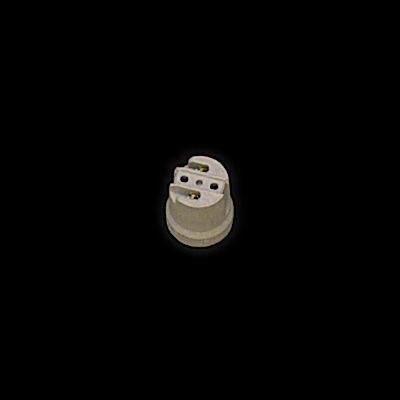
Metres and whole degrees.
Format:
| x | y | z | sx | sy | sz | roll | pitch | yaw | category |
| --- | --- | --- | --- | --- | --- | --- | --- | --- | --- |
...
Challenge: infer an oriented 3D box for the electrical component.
| x | y | z | sx | sy | sz | roll | pitch | yaw | category |
| --- | --- | --- | --- | --- | --- | --- | --- | --- | --- |
| 0.000 | 0.000 | 0.633 | 0.040 | 0.040 | 0.046 | 0 | -27 | -1 | electrical component |
